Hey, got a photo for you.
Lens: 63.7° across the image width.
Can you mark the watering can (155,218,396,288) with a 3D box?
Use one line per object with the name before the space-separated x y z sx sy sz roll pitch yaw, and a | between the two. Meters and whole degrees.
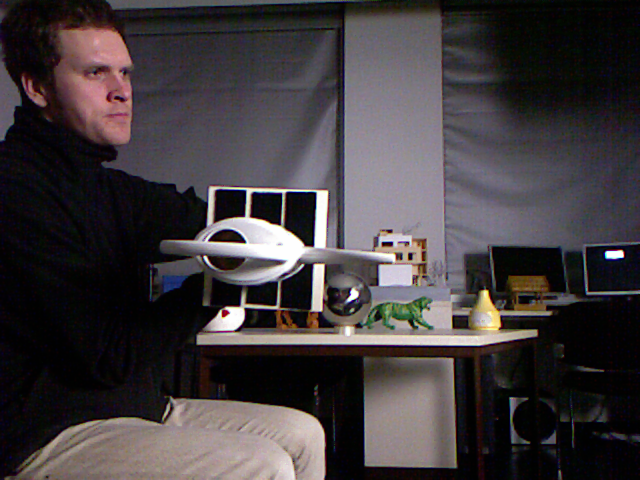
watering can | -0.063 0.022 0.772 0.349 0.105 0.225 4 -1 9
